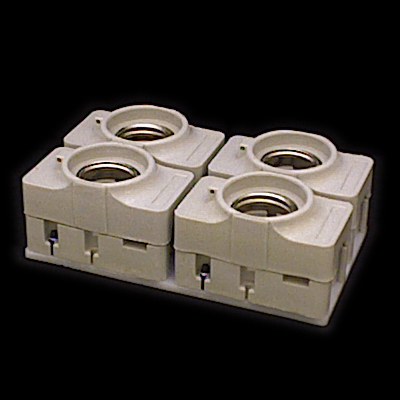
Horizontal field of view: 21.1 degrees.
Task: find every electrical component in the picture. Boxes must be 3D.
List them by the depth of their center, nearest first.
[{"bbox_3d":[0.000,0.000,0.633,0.185,0.061,0.104,11,33,17],"label":"electrical component"}]
